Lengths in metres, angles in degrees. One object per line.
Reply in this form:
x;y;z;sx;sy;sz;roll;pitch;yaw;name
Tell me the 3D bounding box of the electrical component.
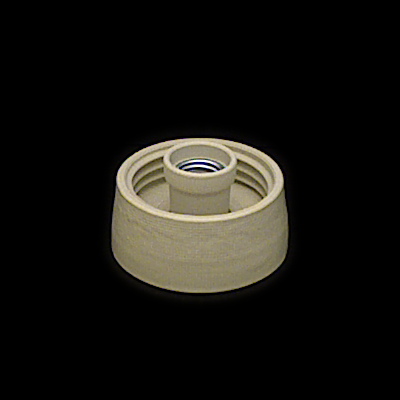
0.000;0.000;0.640;0.108;0.061;0.106;1;32;0;electrical component
